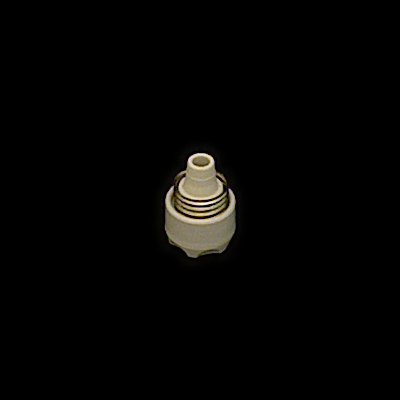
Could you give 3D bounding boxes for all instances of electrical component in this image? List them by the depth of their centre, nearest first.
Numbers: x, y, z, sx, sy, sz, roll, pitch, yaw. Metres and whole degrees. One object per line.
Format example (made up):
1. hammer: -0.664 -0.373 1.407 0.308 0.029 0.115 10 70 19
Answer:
1. electrical component: 0.000 0.000 0.638 0.043 0.062 0.043 1 41 0
